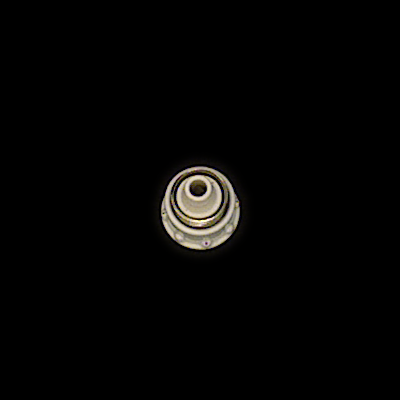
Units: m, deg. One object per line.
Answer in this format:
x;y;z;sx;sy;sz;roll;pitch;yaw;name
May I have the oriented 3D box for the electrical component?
0.000;0.000;0.633;0.048;0.048;0.061;0;-15;1;electrical component
